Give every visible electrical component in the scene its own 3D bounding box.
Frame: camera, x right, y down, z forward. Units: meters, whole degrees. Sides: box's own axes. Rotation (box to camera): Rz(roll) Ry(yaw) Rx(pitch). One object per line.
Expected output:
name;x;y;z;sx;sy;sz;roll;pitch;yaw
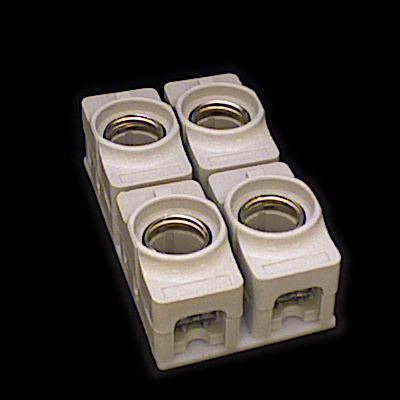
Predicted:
electrical component;0.000;0.000;0.630;0.106;0.061;0.184;-11;43;-13
